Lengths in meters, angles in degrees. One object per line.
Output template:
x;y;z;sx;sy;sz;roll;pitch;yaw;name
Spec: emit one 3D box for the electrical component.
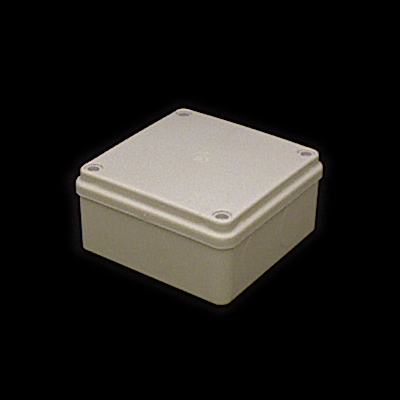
0.000;0.000;0.637;0.108;0.057;0.108;21;36;29;electrical component
